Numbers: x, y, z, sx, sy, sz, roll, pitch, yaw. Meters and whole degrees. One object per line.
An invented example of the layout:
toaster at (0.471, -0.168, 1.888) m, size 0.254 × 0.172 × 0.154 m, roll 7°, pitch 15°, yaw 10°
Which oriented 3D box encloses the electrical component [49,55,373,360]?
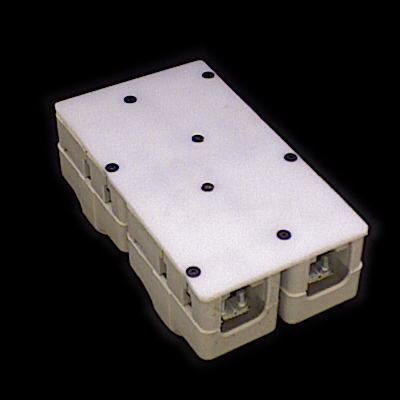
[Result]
electrical component at (0.000, 0.000, 0.629) m, size 0.105 × 0.061 × 0.184 m, roll -20°, pitch 46°, yaw -22°
